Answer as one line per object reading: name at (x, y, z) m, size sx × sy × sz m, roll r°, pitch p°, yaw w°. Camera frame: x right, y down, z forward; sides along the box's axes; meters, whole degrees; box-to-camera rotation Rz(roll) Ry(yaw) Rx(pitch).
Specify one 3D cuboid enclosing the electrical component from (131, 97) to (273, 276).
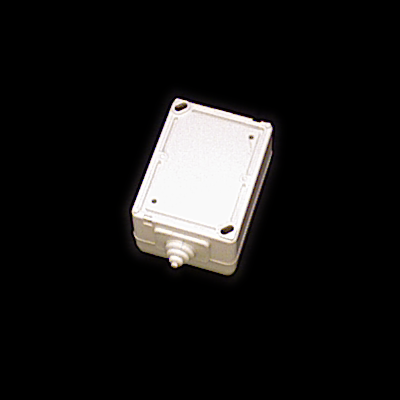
electrical component at (0.000, 0.000, 0.627) m, size 0.061 × 0.096 × 0.061 m, roll 15°, pitch -26°, yaw 8°
